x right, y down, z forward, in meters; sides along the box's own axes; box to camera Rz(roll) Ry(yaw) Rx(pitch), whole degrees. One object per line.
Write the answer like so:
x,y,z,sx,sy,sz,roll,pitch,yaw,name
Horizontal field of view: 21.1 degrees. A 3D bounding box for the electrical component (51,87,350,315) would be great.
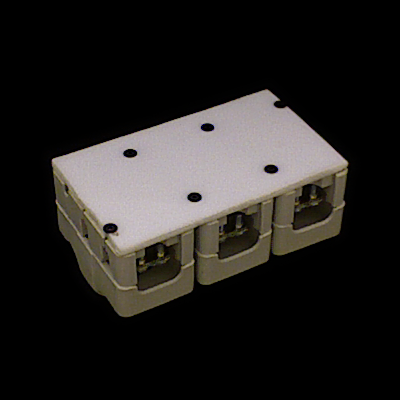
0.000,0.000,0.639,0.149,0.063,0.088,-20,46,-22,electrical component
